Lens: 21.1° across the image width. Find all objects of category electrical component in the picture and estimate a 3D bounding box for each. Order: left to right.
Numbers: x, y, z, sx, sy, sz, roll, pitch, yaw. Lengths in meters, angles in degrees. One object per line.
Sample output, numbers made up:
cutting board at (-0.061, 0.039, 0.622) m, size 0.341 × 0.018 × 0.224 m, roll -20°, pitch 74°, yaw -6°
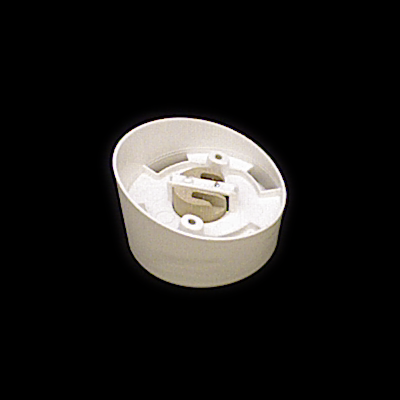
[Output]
electrical component at (0.000, 0.000, 0.628) m, size 0.099 × 0.065 × 0.098 m, roll 0°, pitch 42°, yaw 0°
